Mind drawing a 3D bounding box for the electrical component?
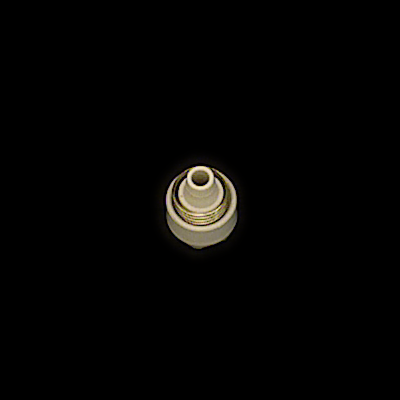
[{"bbox_3d":[0.000,0.000,0.633,0.043,0.043,0.062,0,-25,1],"label":"electrical component"}]
